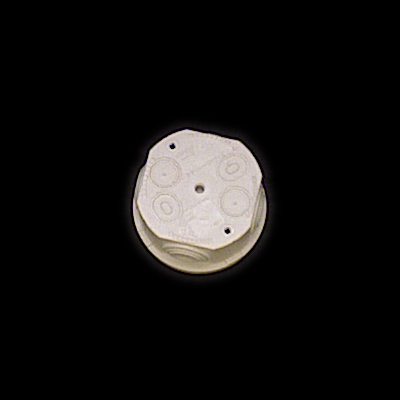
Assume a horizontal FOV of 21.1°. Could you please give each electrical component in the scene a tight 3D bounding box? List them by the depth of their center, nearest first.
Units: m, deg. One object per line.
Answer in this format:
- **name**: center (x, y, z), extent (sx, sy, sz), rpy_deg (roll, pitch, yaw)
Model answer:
- **electrical component**: center (0.000, 0.000, 0.632), extent (0.080, 0.080, 0.050), rpy_deg (0, -17, -1)
